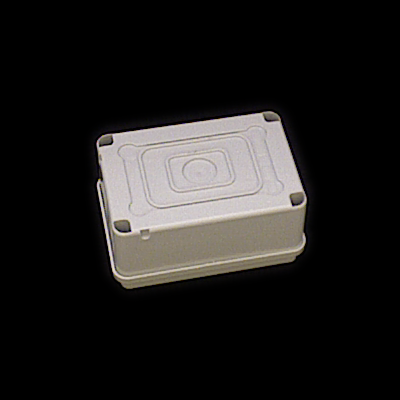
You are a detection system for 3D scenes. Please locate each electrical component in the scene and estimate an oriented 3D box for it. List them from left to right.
[{"bbox_3d":[0.000,0.000,0.630,0.113,0.077,0.057,-8,-37,-8],"label":"electrical component"}]
